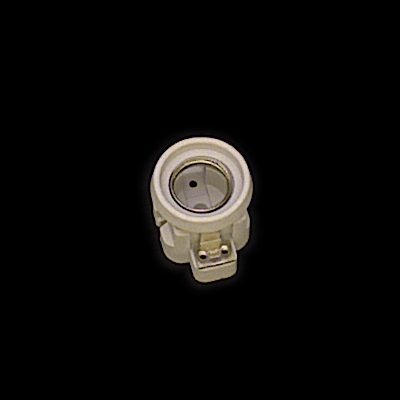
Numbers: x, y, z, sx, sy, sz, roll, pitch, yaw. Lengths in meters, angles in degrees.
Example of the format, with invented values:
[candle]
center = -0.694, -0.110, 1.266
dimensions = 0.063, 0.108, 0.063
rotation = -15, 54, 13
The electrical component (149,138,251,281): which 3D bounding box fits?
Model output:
[electrical component]
center = 0.000, 0.000, 0.628
dimensions = 0.058, 0.078, 0.056
rotation = -13, -26, -7
